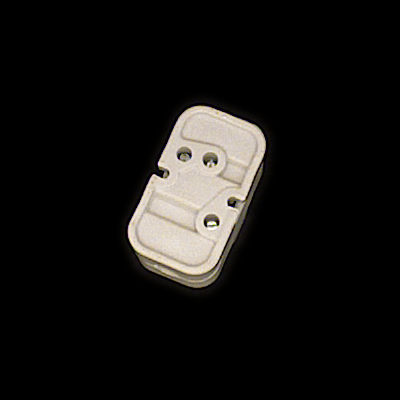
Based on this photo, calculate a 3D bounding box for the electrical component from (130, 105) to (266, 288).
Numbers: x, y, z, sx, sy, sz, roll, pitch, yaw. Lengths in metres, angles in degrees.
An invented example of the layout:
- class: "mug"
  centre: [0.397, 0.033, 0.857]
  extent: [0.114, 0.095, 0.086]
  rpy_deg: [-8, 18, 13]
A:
- class: "electrical component"
  centre: [0.000, 0.000, 0.635]
  extent: [0.053, 0.096, 0.059]
  rpy_deg: [22, -14, 6]
